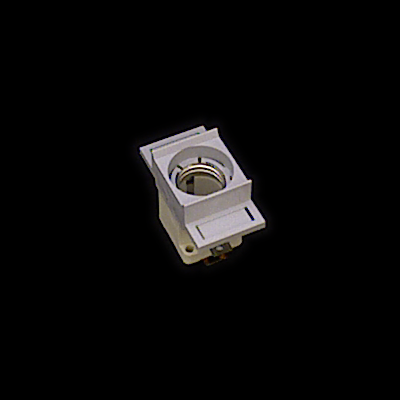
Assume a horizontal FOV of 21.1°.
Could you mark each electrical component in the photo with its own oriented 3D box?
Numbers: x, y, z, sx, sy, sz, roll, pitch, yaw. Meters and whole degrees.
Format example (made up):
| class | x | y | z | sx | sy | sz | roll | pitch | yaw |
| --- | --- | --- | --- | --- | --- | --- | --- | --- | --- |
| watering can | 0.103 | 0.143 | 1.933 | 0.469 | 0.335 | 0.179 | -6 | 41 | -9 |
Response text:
| class | x | y | z | sx | sy | sz | roll | pitch | yaw |
| --- | --- | --- | --- | --- | --- | --- | --- | --- | --- |
| electrical component | 0.000 | 0.000 | 0.624 | 0.042 | 0.080 | 0.064 | -20 | -35 | -16 |
